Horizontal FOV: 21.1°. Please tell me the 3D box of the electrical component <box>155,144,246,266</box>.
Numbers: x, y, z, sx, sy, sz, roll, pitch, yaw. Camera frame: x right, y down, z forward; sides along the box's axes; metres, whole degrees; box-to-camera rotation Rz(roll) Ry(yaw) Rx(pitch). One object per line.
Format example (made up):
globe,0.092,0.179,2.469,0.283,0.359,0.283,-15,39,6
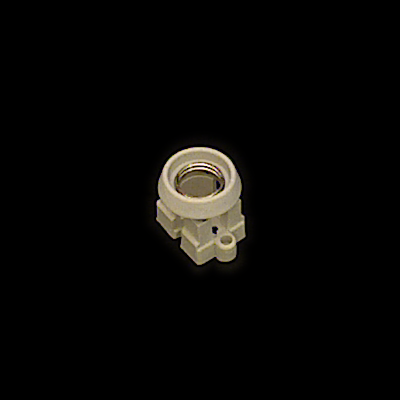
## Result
electrical component,0.000,0.000,0.638,0.049,0.066,0.055,-32,-30,-24
